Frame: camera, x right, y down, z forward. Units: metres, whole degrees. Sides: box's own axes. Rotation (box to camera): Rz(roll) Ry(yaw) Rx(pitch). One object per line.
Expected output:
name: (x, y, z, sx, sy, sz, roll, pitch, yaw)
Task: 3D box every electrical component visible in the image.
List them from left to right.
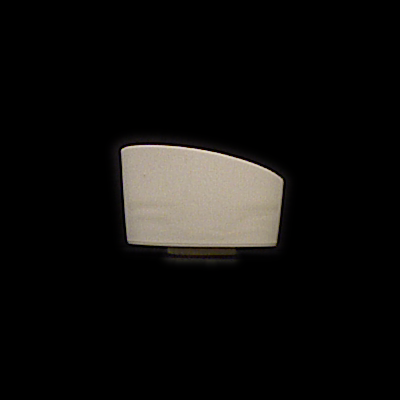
electrical component: (0.000, 0.000, 0.649, 0.099, 0.064, 0.099, 1, 1, 0)
